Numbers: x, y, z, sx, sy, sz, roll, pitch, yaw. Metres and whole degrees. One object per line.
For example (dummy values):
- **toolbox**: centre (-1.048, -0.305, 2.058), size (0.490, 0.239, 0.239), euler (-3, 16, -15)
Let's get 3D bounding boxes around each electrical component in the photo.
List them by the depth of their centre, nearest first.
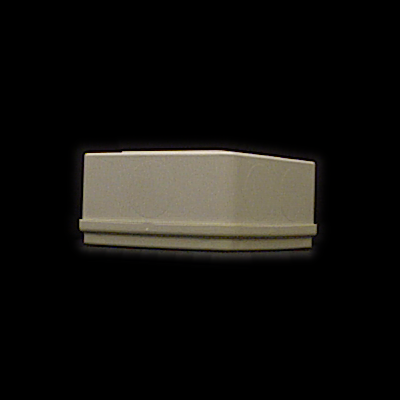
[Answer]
- **electrical component**: centre (0.000, 0.000, 0.652), size (0.108, 0.056, 0.109), euler (2, 0, 33)
